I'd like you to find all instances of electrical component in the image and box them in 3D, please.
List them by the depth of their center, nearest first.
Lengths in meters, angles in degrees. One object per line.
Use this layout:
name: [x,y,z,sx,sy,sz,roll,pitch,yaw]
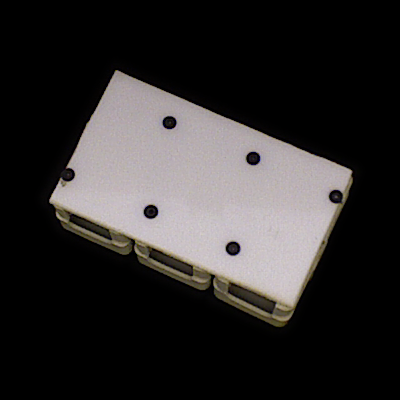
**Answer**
electrical component: [0.000,0.000,0.631,0.150,0.089,0.062,24,-15,7]
